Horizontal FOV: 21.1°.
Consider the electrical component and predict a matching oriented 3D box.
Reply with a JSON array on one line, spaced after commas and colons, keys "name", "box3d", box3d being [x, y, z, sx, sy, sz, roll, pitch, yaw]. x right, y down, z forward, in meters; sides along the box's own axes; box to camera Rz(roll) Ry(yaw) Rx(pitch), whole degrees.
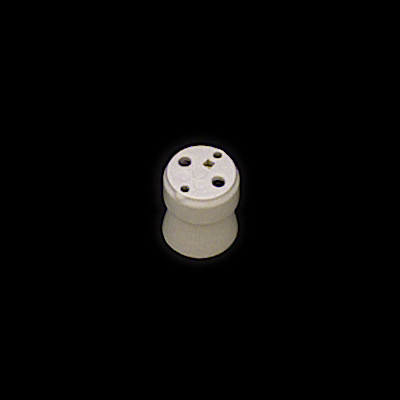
[{"name": "electrical component", "box3d": [0.000, 0.000, 0.629, 0.045, 0.044, 0.055, 0, -37, 0]}]
